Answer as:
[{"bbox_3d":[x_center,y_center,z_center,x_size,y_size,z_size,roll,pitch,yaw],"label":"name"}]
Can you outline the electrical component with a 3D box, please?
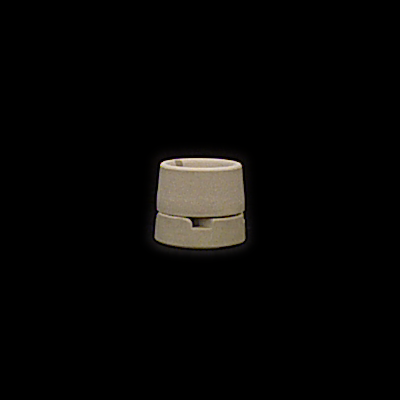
[{"bbox_3d":[0.000,0.000,0.647,0.055,0.047,0.055,1,10,0],"label":"electrical component"}]
